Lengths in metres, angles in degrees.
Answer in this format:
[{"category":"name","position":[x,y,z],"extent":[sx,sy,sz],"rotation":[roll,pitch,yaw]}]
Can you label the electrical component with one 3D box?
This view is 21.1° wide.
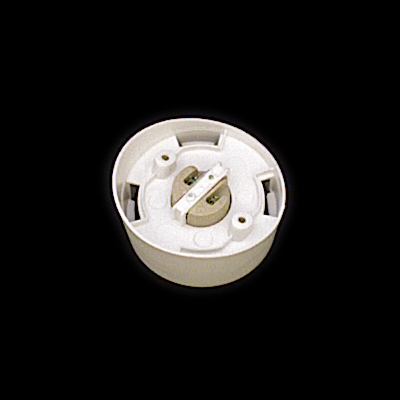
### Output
[{"category":"electrical component","position":[0.000,0.000,0.623],"extent":[0.099,0.099,0.064],"rotation":[0,-27,0]}]
